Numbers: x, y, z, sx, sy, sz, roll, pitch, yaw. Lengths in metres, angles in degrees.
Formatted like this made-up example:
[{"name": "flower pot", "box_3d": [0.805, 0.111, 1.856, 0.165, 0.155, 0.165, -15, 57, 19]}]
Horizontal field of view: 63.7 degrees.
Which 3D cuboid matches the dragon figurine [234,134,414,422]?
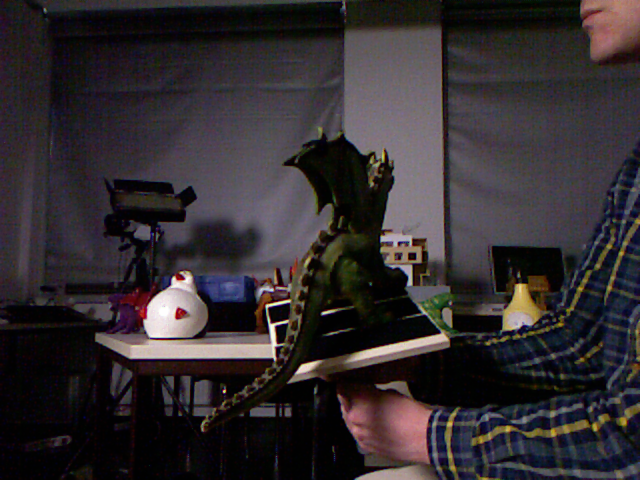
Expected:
[{"name": "dragon figurine", "box_3d": [0.013, -0.003, 0.617, 0.122, 0.240, 0.417, 1, 22, 29]}]
